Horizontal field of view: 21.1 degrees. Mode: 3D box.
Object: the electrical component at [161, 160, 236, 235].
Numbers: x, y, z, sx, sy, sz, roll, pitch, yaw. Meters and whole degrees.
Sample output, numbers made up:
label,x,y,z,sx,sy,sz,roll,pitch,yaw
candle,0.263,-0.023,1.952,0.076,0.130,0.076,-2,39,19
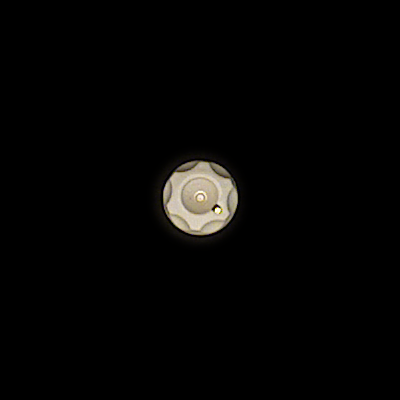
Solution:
label,x,y,z,sx,sy,sz,roll,pitch,yaw
electrical component,0.000,0.000,0.635,0.043,0.043,0.062,0,-5,2
